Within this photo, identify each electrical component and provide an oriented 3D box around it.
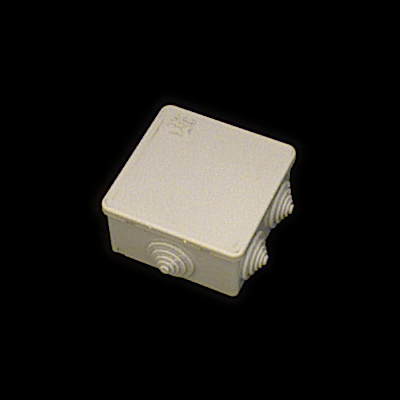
[{"bbox_3d":[0.000,0.000,0.641,0.099,0.100,0.049,20,-34,14],"label":"electrical component"}]
